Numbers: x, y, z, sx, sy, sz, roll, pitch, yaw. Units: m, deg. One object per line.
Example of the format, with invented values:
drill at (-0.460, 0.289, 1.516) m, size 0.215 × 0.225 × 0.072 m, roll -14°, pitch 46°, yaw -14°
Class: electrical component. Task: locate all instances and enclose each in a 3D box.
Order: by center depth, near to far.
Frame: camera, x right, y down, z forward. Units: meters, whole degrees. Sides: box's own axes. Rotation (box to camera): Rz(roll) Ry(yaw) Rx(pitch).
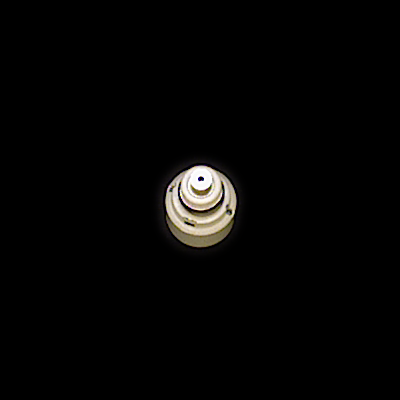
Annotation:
electrical component at (0.000, 0.000, 0.618) m, size 0.040 × 0.040 × 0.078 m, roll 0°, pitch -17°, yaw -1°
